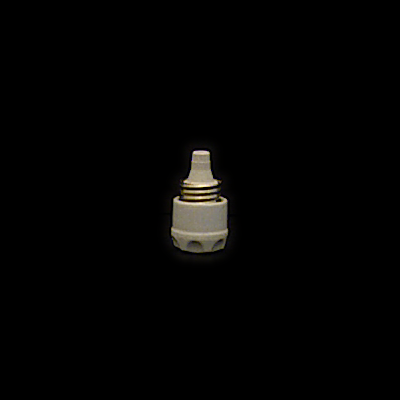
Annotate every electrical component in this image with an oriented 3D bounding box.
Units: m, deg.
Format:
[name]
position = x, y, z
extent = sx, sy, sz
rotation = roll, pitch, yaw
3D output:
[electrical component]
position = 0.000, 0.000, 0.658
extent = 0.035, 0.062, 0.035
rotation = 1, 14, 0
